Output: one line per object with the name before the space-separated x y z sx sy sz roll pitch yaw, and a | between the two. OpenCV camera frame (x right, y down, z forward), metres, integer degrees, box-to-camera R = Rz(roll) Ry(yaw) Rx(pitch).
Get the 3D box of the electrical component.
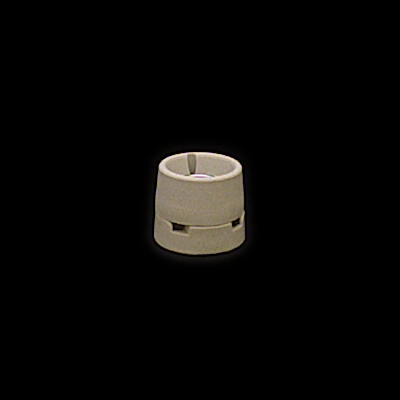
electrical component | 0.000 0.000 0.640 0.055 0.047 0.055 1 22 0
